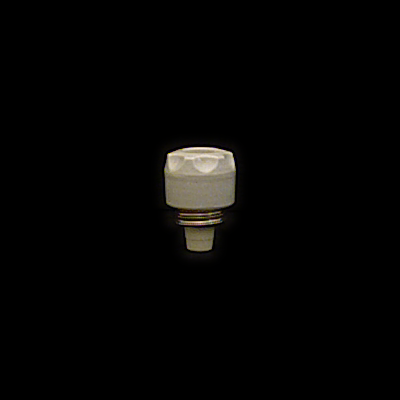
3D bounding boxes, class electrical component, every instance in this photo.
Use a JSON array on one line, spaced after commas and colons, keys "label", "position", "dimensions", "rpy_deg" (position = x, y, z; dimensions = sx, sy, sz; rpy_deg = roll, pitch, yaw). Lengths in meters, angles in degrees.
[{"label": "electrical component", "position": [0.000, 0.000, 0.650], "dimensions": [0.043, 0.062, 0.043], "rpy_deg": [1, 12, 0]}]
